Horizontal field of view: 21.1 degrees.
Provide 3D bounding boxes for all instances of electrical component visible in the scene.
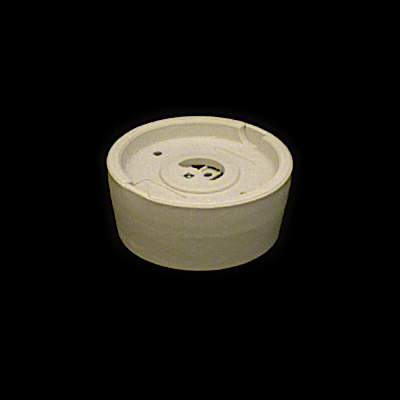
[{"bbox_3d":[0.000,0.000,0.638,0.108,0.061,0.106,1,32,0],"label":"electrical component"}]
